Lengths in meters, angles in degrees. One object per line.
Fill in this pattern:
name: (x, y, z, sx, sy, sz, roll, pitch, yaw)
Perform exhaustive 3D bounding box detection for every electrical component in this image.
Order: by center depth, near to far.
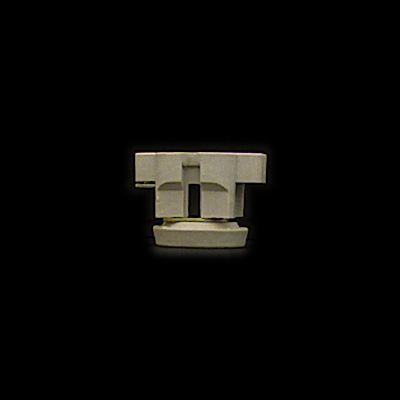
electrical component: (0.000, 0.000, 0.655, 0.078, 0.057, 0.058, 0, 2, 11)
